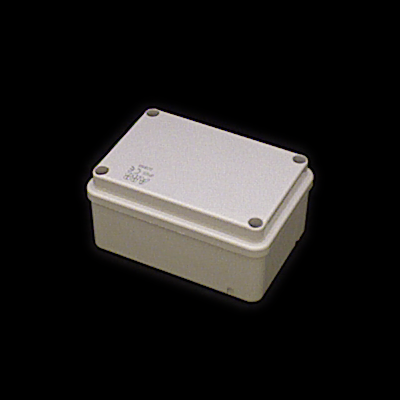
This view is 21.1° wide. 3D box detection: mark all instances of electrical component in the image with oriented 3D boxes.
[{"bbox_3d":[0.000,0.000,0.629,0.112,0.057,0.078,19,45,19],"label":"electrical component"}]
